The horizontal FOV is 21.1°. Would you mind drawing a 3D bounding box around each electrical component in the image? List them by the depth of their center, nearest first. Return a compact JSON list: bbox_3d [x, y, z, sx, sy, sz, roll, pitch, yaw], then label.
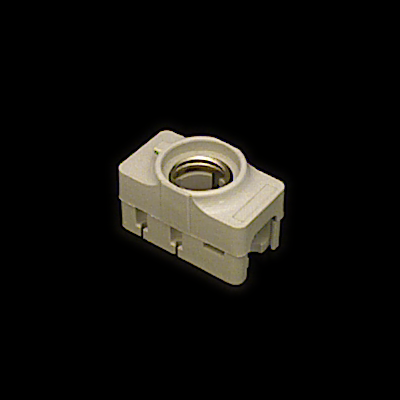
[{"bbox_3d":[0.000,0.000,0.640,0.089,0.056,0.050,26,48,24],"label":"electrical component"}]
